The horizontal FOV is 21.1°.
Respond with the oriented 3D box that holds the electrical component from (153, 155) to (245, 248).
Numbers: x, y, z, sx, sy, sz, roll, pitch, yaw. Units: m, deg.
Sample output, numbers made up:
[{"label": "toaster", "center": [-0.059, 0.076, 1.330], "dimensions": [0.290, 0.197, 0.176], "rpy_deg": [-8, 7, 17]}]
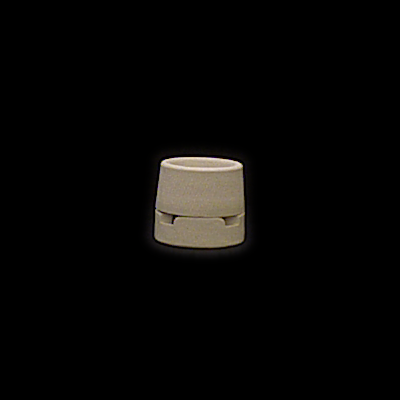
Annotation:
[{"label": "electrical component", "center": [0.000, 0.000, 0.646], "dimensions": [0.055, 0.047, 0.055], "rpy_deg": [2, 11, 0]}]
